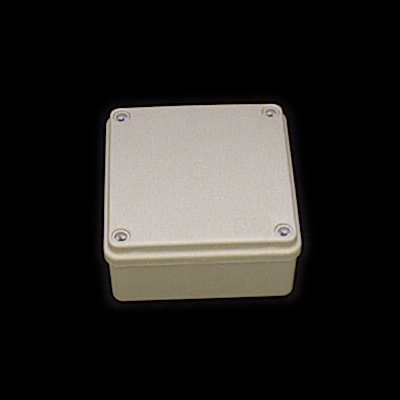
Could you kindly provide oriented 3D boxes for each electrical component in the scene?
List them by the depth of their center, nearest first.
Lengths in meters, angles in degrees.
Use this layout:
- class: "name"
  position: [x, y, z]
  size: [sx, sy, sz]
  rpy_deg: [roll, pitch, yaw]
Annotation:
- class: "electrical component"
  position: [0.000, 0.000, 0.631]
  size: [0.109, 0.108, 0.056]
  rpy_deg: [-2, -38, -2]
